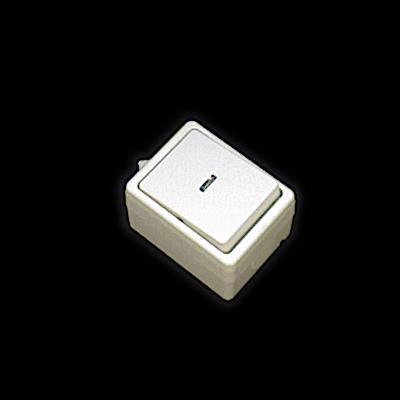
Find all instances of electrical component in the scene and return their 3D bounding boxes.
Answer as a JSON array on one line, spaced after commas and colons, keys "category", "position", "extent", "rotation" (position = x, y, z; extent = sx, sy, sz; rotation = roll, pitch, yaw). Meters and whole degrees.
[{"category": "electrical component", "position": [0.000, 0.000, 0.627], "extent": [0.096, 0.062, 0.061], "rotation": [37, -22, 17]}]
